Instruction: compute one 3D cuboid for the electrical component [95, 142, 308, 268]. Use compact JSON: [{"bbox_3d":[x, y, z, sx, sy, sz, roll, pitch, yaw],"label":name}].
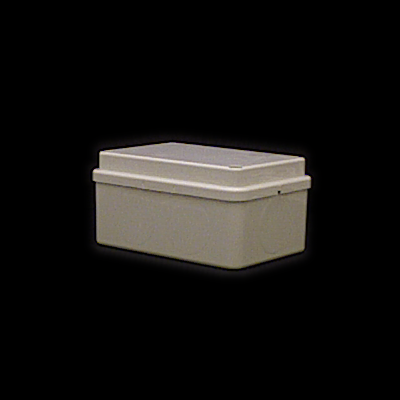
[{"bbox_3d":[0.000,0.000,0.646,0.112,0.057,0.078,9,13,37],"label":"electrical component"}]
